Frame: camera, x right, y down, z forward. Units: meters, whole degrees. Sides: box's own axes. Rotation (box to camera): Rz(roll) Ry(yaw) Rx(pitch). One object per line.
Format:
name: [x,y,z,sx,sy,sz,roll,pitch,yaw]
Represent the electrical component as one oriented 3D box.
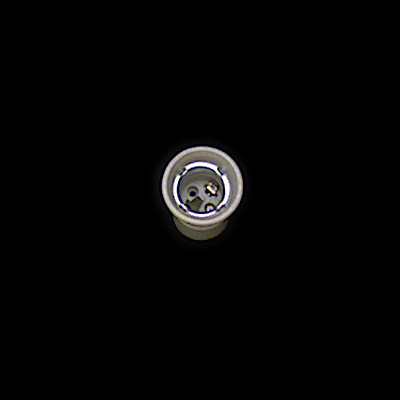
electrical component: [0.000,0.000,0.624,0.044,0.044,0.065,0,-16,-1]
